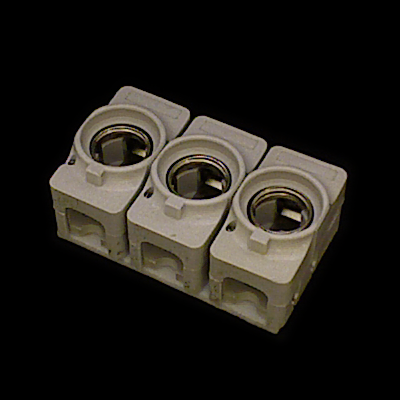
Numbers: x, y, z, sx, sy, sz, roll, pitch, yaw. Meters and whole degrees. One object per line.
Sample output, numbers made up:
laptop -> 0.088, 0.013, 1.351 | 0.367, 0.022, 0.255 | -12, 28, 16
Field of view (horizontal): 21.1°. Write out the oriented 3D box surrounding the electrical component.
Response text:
electrical component -> 0.000, 0.000, 0.633 | 0.149, 0.089, 0.062 | 22, -34, 16
